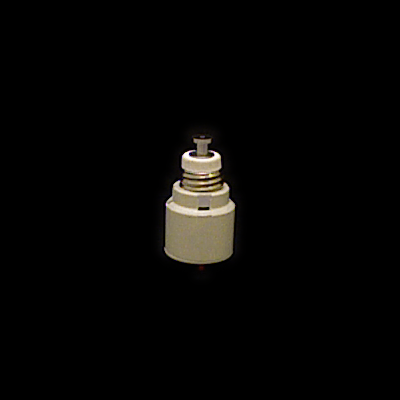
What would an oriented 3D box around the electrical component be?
[{"bbox_3d":[0.000,0.000,0.635,0.040,0.079,0.039,2,21,0],"label":"electrical component"}]
